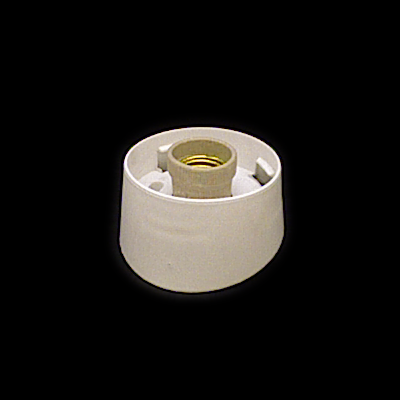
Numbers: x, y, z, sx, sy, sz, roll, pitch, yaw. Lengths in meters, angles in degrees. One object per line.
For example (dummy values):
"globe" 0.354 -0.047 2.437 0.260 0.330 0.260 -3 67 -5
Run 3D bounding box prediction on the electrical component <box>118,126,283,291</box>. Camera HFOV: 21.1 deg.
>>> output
"electrical component" 0.000 0.000 0.634 0.099 0.065 0.097 1 32 0
